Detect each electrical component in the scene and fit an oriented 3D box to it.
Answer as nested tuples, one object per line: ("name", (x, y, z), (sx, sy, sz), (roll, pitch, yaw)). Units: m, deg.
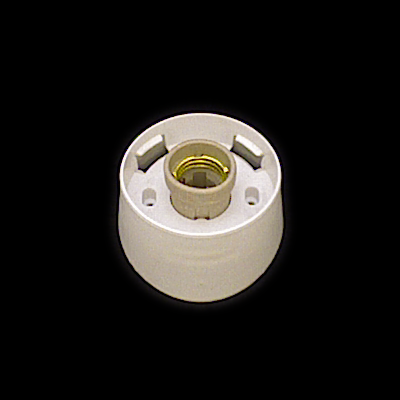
("electrical component", (0.000, 0.000, 0.627), (0.099, 0.098, 0.064), (0, -37, -1))
